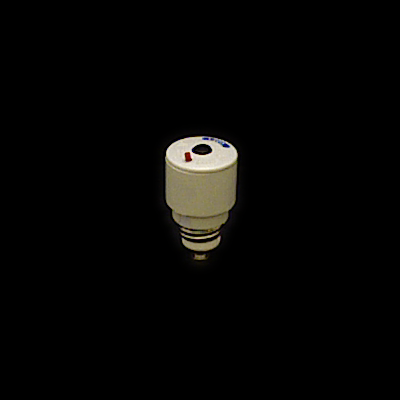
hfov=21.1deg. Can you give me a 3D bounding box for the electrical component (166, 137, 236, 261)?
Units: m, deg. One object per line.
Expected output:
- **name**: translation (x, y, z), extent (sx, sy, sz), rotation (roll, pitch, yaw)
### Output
- **electrical component**: translation (0.000, 0.000, 0.628), extent (0.040, 0.079, 0.039), rotation (1, 32, 0)
